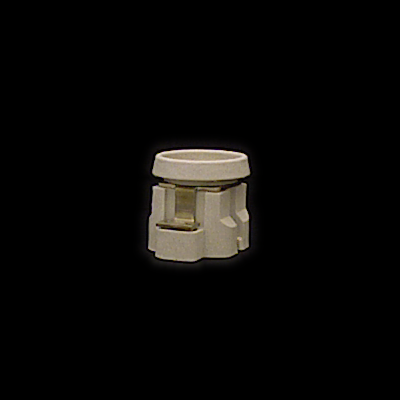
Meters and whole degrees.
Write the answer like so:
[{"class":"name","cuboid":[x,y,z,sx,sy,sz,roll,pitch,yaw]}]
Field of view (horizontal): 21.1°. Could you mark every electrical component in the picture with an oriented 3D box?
[{"class":"electrical component","cuboid":[0.000,0.000,0.642,0.057,0.057,0.078,6,11,22]}]
